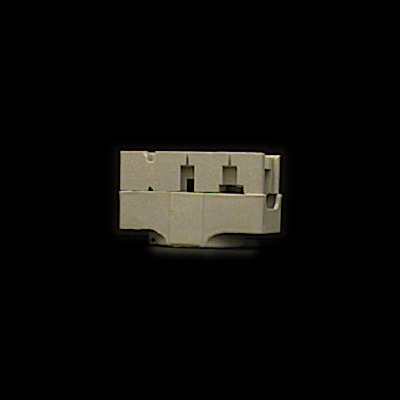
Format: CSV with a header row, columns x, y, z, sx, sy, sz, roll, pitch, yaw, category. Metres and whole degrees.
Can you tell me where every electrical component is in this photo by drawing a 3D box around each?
x,y,z,sx,sy,sz,roll,pitch,yaw,category
0.000,0.000,0.656,0.089,0.056,0.050,1,2,19,electrical component
